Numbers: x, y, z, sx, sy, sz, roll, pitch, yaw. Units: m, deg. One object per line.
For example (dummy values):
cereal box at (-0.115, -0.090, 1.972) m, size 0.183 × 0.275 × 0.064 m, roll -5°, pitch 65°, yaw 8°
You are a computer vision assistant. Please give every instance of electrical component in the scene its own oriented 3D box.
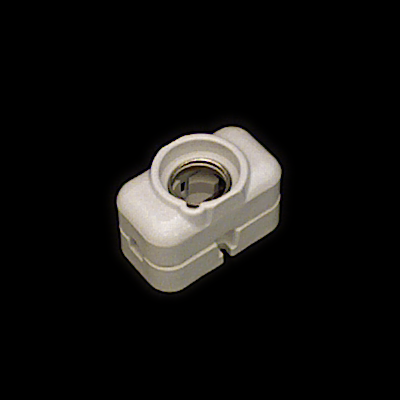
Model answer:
electrical component at (0.000, 0.000, 0.634) m, size 0.095 × 0.053 × 0.059 m, roll -32°, pitch -31°, yaw -22°
